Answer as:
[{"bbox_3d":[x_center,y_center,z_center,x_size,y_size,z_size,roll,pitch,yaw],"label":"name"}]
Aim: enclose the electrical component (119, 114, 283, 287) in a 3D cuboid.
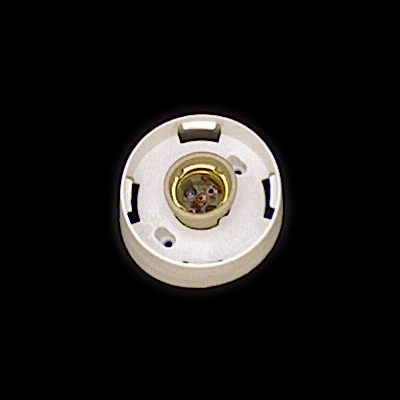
[{"bbox_3d":[0.000,0.000,0.625,0.099,0.099,0.064,0,-17,0],"label":"electrical component"}]
